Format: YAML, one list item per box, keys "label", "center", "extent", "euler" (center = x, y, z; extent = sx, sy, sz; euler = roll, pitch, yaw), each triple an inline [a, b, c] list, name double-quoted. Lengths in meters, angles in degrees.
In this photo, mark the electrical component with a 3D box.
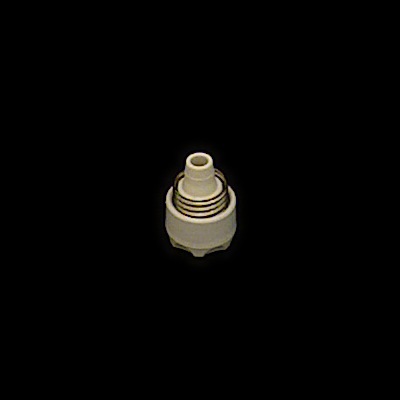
- label: "electrical component"
  center: [0.000, 0.000, 0.638]
  extent: [0.043, 0.062, 0.043]
  euler: [0, 42, 1]
